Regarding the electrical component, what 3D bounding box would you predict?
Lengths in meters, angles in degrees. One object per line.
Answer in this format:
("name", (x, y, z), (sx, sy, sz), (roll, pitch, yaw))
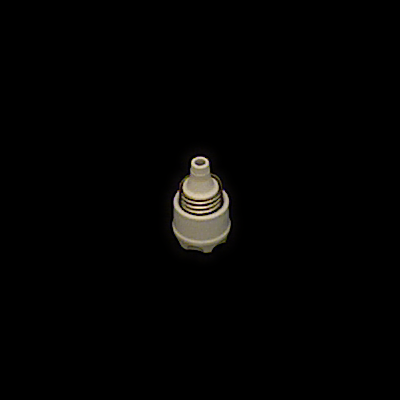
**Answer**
("electrical component", (0.000, 0.000, 0.641), (0.035, 0.062, 0.035), (-1, 41, 1))
